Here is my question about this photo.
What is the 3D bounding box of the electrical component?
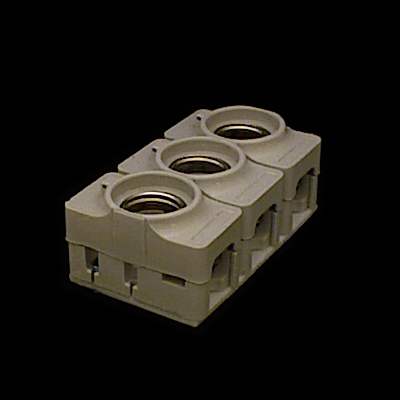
[{"bbox_3d":[0.000,0.000,0.640,0.089,0.063,0.148,17,34,26],"label":"electrical component"}]
